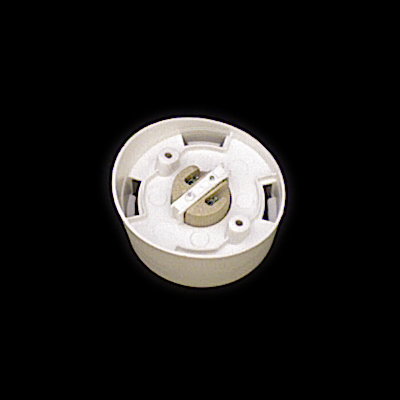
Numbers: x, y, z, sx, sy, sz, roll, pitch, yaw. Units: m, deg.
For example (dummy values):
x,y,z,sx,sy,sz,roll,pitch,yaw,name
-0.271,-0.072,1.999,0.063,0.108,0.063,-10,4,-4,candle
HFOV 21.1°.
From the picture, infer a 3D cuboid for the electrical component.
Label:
x,y,z,sx,sy,sz,roll,pitch,yaw,name
0.000,0.000,0.623,0.099,0.099,0.064,0,-27,0,electrical component
